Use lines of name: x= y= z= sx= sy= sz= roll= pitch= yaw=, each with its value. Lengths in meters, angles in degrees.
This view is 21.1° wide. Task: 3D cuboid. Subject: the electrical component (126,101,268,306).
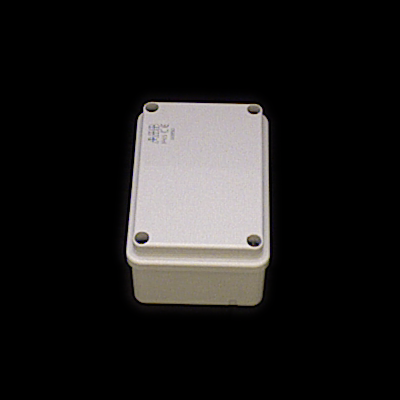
electrical component: x=0.000 y=0.000 z=0.628 sx=0.078 sy=0.112 sz=0.057 roll=1 pitch=-37 yaw=1
